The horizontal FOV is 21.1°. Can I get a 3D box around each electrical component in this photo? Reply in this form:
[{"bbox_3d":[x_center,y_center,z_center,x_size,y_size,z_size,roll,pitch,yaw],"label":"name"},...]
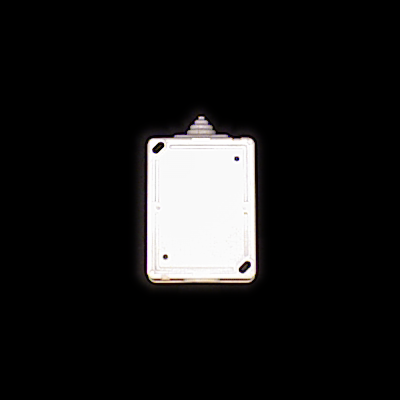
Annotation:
[{"bbox_3d":[0.000,0.000,0.629,0.062,0.096,0.061,0,-8,0],"label":"electrical component"}]
